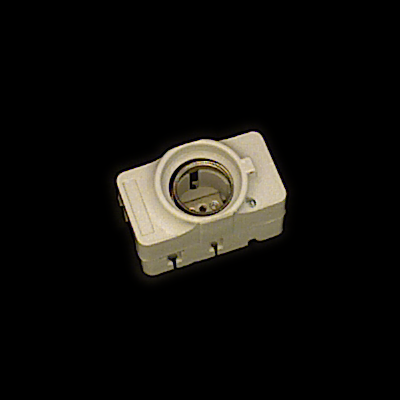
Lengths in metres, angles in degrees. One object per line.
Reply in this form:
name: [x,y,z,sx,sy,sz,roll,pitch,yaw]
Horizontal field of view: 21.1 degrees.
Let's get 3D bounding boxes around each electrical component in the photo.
electrical component: [0.000,0.000,0.636,0.090,0.050,0.055,-18,-25,-9]
